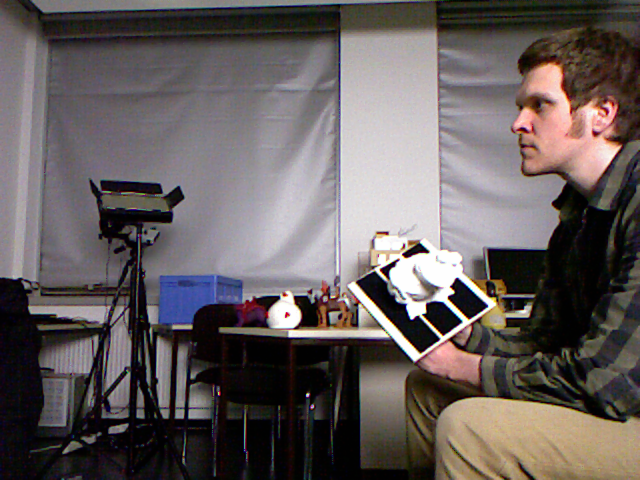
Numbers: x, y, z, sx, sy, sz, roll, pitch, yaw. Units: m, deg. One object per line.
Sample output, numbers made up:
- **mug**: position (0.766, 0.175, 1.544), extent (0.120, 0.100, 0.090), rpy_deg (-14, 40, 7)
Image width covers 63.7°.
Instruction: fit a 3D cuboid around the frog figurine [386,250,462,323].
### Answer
- **frog figurine**: position (0.192, 0.061, 0.957), extent (0.138, 0.126, 0.156), rpy_deg (-11, -40, -8)
